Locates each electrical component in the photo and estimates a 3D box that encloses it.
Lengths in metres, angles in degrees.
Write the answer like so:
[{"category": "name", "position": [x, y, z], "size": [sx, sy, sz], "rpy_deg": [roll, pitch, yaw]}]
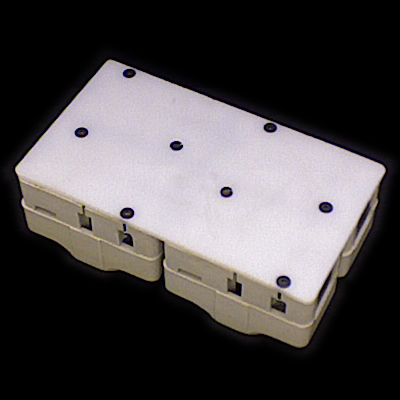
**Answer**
[{"category": "electrical component", "position": [0.000, 0.000, 0.627], "size": [0.186, 0.105, 0.060], "rpy_deg": [23, -35, 16]}]
